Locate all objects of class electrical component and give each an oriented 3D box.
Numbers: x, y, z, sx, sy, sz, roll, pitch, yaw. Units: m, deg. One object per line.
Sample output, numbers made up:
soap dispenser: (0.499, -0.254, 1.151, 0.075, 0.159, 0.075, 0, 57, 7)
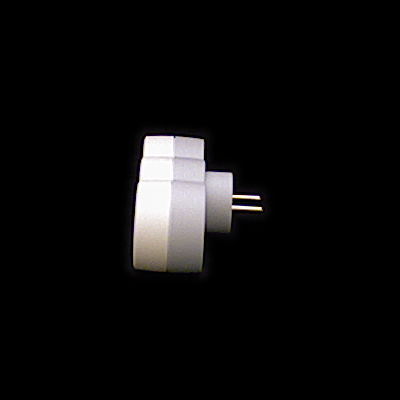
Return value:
electrical component: (0.000, 0.000, 0.643, 0.074, 0.053, 0.136, 3, 20, -1)
